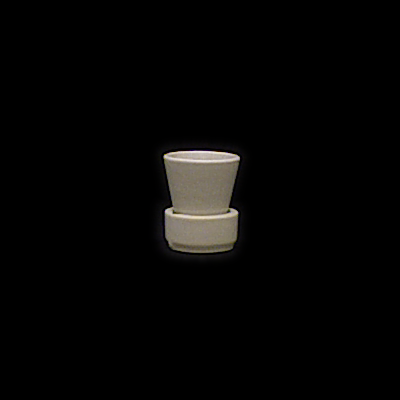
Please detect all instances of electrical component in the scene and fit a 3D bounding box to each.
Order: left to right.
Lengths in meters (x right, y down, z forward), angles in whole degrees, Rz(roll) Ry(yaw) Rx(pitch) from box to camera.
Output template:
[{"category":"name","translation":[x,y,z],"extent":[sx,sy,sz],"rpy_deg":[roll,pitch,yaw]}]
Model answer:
[{"category":"electrical component","translation":[0.000,0.000,0.644],"extent":[0.045,0.055,0.044],"rpy_deg":[1,10,0]}]
